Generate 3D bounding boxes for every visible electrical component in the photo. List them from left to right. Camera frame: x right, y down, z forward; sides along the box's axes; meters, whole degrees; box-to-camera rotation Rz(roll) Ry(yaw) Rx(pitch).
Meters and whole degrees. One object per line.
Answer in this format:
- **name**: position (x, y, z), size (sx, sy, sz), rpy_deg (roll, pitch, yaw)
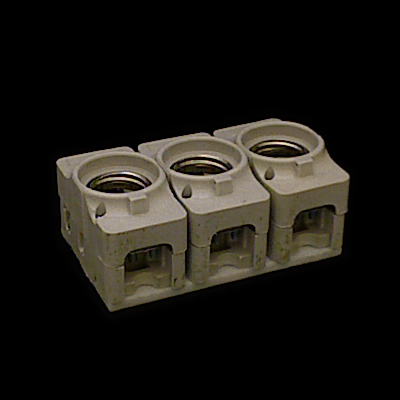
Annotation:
- **electrical component**: position (0.000, 0.000, 0.639), size (0.150, 0.063, 0.088), rpy_deg (-13, 34, -21)
